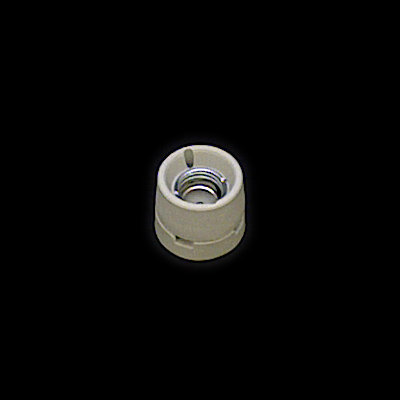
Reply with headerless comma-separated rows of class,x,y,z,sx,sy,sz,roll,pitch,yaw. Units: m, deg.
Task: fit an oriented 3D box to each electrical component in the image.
electrical component,0.000,0.000,0.635,0.055,0.055,0.047,0,-38,-1
